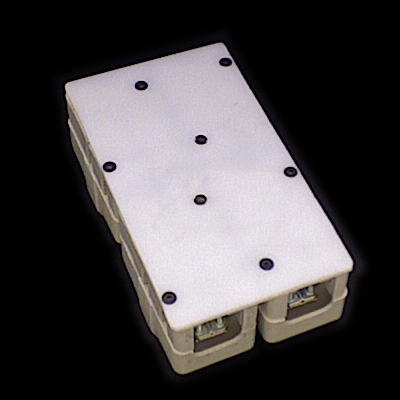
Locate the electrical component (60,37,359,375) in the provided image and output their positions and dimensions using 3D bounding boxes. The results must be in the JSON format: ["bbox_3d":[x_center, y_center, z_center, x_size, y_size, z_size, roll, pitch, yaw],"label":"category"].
[{"bbox_3d":[0.000,0.000,0.627,0.106,0.185,0.060,-17,-36,-14],"label":"electrical component"}]
